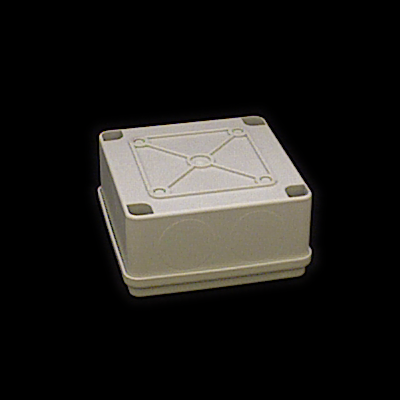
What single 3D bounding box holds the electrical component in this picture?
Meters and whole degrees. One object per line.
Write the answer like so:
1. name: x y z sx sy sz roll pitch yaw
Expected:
1. electrical component: 0.000 0.000 0.635 0.109 0.057 0.107 -7 32 -12
